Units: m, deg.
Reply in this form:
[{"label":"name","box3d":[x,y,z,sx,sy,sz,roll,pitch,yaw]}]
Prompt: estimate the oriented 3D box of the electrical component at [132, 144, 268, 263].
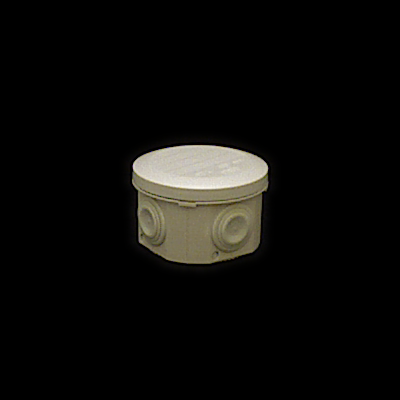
[{"label":"electrical component","box3d":[0.000,0.000,0.638,0.080,0.051,0.079,1,21,0]}]
